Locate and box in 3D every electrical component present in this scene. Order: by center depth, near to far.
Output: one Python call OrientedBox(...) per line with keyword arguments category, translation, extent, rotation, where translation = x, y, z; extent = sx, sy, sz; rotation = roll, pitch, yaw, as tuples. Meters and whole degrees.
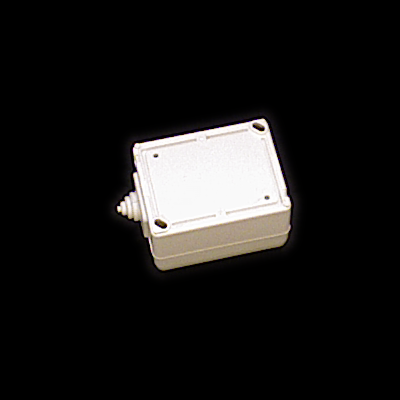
OrientedBox(category="electrical component", translation=(0.000, 0.000, 0.629), extent=(0.096, 0.062, 0.061), rotation=(-12, -27, -5))
